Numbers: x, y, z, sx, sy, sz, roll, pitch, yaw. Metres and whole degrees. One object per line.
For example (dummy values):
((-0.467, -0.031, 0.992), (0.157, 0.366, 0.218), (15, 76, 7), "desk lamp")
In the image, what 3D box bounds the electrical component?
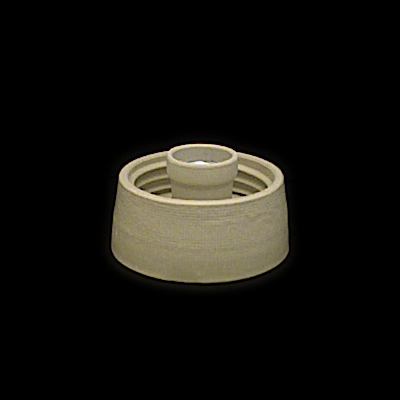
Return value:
((0.000, 0.000, 0.644), (0.108, 0.061, 0.106), (1, 21, 0), "electrical component")
